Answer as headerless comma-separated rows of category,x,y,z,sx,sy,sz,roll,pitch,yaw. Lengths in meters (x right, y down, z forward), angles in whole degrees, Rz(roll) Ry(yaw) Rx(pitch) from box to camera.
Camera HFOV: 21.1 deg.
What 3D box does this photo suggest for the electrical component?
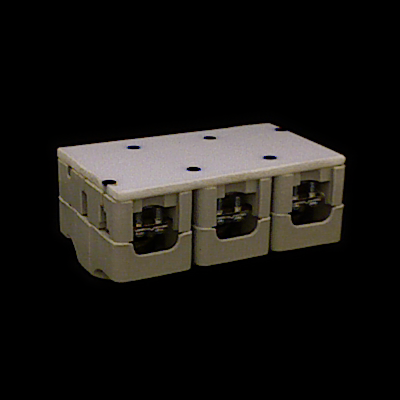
electrical component,0.000,0.000,0.648,0.150,0.063,0.088,-9,23,-26
